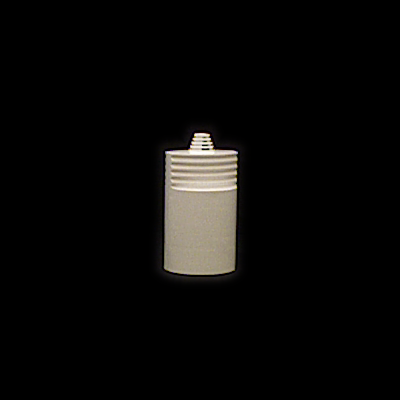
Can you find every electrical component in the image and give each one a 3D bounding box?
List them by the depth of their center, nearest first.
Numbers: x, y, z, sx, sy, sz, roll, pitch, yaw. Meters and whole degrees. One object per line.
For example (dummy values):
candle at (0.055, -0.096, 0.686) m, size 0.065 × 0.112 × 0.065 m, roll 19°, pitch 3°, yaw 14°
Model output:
electrical component at (0.000, 0.000, 0.642) m, size 0.043 × 0.081 × 0.043 m, roll 1°, pitch 11°, yaw 0°
